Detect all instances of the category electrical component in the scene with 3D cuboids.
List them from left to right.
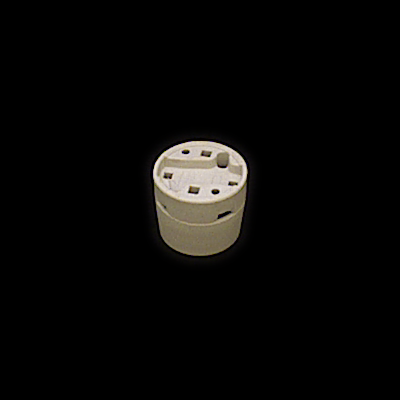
[{"bbox_3d":[0.000,0.000,0.635,0.055,0.047,0.055,1,42,0],"label":"electrical component"}]
